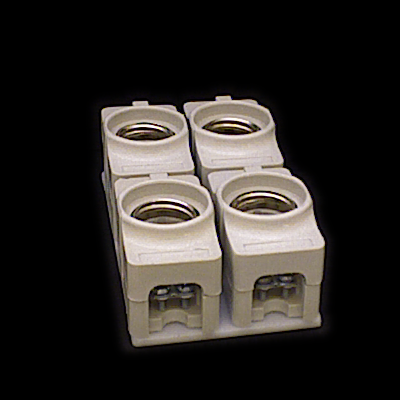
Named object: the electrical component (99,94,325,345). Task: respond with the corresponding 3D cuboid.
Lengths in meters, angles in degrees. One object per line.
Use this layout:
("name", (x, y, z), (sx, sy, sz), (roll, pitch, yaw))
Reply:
("electrical component", (0.000, 0.000, 0.633), (0.106, 0.061, 0.183), (-4, 31, -8))
